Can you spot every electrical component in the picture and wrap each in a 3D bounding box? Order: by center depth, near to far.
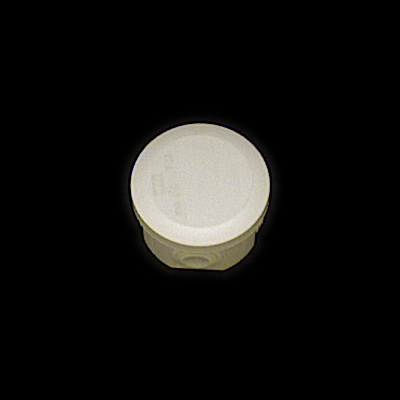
[{"bbox_3d":[0.000,0.000,0.631,0.080,0.080,0.050,0,-28,0],"label":"electrical component"}]
